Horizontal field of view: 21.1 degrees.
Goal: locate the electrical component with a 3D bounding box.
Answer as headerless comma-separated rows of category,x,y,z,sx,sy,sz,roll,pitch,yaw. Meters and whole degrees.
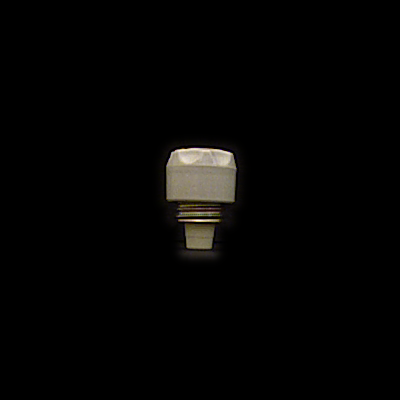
electrical component,0.000,0.000,0.658,0.043,0.062,0.043,2,1,0
